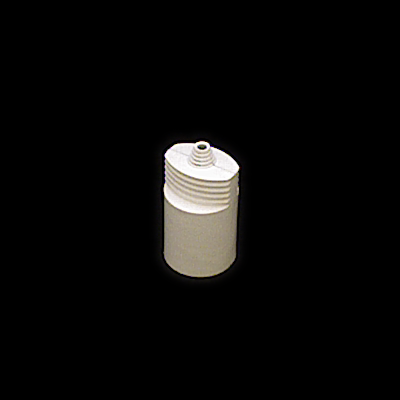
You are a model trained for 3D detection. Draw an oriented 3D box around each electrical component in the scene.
[{"bbox_3d":[0.000,0.000,0.623,0.043,0.082,0.042,0,42,0],"label":"electrical component"}]
